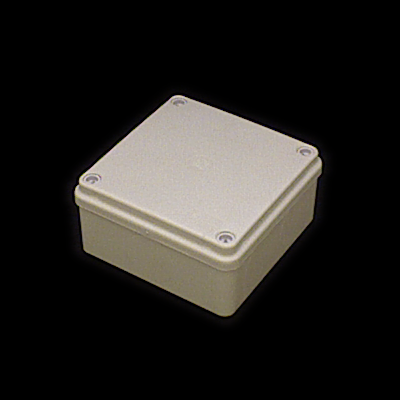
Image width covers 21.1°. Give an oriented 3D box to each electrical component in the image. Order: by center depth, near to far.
[{"bbox_3d":[0.000,0.000,0.634,0.108,0.057,0.108,23,46,23],"label":"electrical component"}]
